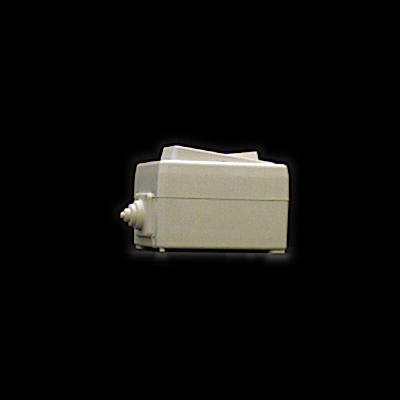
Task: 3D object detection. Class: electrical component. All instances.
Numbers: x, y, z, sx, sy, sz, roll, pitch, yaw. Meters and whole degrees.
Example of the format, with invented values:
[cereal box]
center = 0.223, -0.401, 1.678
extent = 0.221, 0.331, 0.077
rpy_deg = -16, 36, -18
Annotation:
[electrical component]
center = 0.000, 0.000, 0.649
extent = 0.096, 0.061, 0.061
rpy_deg = 2, 0, -18
